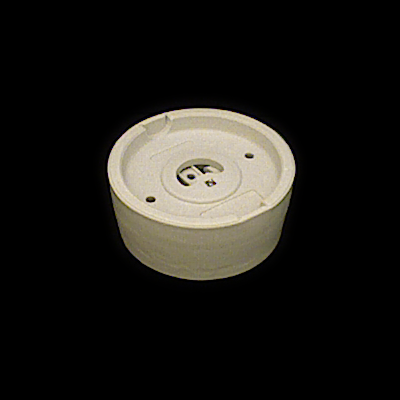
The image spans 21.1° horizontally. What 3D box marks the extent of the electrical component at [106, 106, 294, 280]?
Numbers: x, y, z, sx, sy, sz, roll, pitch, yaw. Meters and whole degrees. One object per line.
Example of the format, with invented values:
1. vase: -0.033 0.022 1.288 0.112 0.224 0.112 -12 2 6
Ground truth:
1. electrical component: 0.000 0.000 0.637 0.108 0.061 0.107 1 42 0
